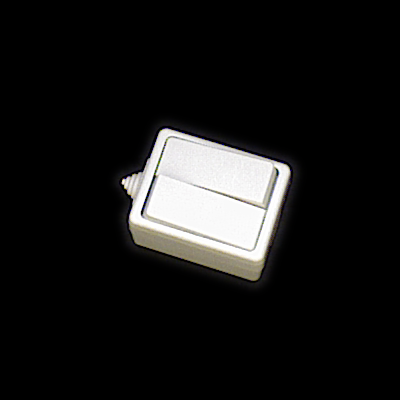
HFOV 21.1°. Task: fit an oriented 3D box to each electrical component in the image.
[{"bbox_3d":[0.000,0.000,0.626,0.096,0.062,0.060,17,-16,5],"label":"electrical component"}]
